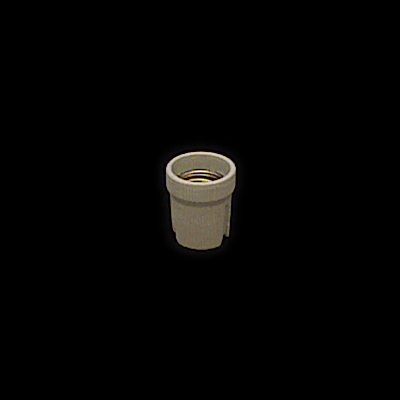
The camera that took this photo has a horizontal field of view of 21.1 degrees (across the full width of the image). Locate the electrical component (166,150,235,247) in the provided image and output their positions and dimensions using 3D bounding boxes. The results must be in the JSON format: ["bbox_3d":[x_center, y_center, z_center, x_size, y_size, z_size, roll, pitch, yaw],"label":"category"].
[{"bbox_3d":[0.000,0.000,0.637,0.040,0.047,0.039,1,32,0],"label":"electrical component"}]
